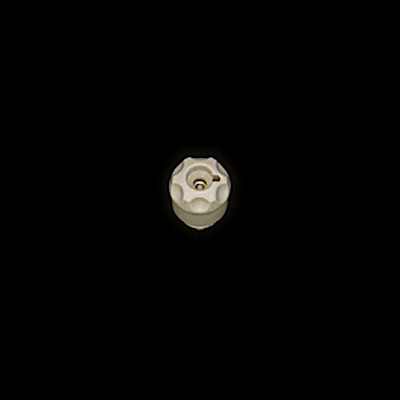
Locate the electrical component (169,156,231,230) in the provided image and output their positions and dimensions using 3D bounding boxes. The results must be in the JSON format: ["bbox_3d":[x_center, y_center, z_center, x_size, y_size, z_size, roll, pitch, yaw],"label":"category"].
[{"bbox_3d":[0.000,0.000,0.633,0.035,0.035,0.061,0,-26,0],"label":"electrical component"}]
